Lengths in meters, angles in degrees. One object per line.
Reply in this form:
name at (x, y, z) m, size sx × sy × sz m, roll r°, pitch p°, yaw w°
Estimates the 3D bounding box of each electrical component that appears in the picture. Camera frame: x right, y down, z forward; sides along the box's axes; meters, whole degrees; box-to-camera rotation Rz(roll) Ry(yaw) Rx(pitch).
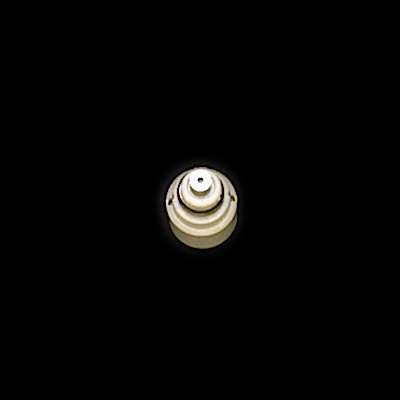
electrical component at (0.000, 0.000, 0.617) m, size 0.040 × 0.040 × 0.078 m, roll 0°, pitch -16°, yaw 1°
